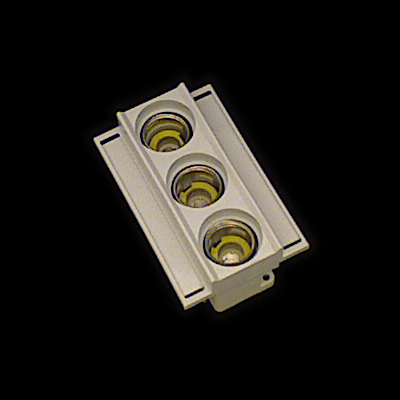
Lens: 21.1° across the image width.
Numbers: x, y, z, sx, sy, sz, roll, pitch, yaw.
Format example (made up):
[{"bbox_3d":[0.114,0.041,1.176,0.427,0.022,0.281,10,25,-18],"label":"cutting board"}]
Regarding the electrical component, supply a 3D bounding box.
[{"bbox_3d":[0.000,0.000,0.637,0.079,0.121,0.063,-25,-24,-10],"label":"electrical component"}]
